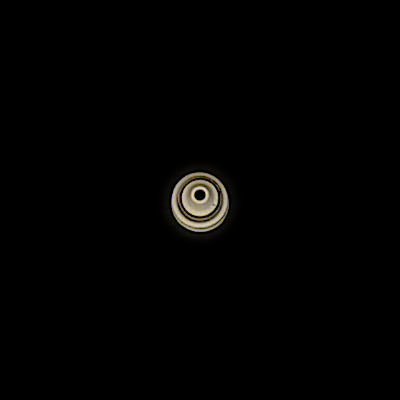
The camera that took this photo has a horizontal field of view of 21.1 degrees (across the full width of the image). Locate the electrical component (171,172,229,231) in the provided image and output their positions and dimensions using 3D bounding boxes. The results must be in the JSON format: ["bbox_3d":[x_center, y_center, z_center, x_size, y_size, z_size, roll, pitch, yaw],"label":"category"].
[{"bbox_3d":[0.000,0.000,0.637,0.035,0.035,0.061,0,-6,-1],"label":"electrical component"}]
